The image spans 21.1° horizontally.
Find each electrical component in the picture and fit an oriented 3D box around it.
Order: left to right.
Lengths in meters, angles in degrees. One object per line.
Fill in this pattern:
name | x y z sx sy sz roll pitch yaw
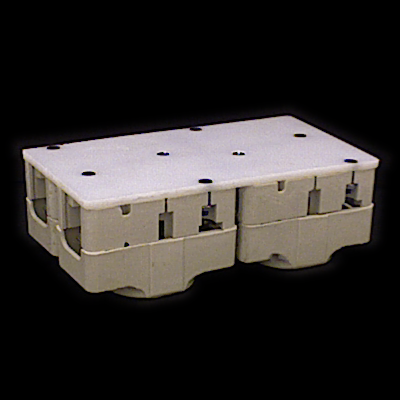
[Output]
electrical component | 0.000 0.000 0.638 0.186 0.061 0.104 -9 23 -26
